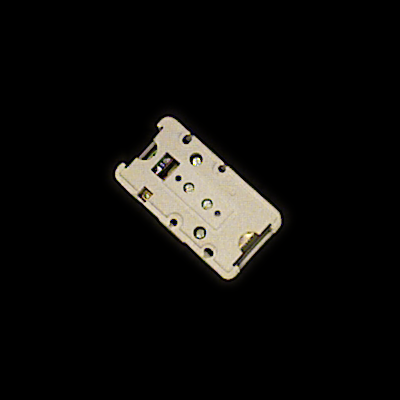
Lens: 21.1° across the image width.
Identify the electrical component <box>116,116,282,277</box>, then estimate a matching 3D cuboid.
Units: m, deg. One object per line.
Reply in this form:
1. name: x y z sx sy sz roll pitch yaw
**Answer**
1. electrical component: 0.000 0.000 0.637 0.089 0.050 0.055 42 -3 4
